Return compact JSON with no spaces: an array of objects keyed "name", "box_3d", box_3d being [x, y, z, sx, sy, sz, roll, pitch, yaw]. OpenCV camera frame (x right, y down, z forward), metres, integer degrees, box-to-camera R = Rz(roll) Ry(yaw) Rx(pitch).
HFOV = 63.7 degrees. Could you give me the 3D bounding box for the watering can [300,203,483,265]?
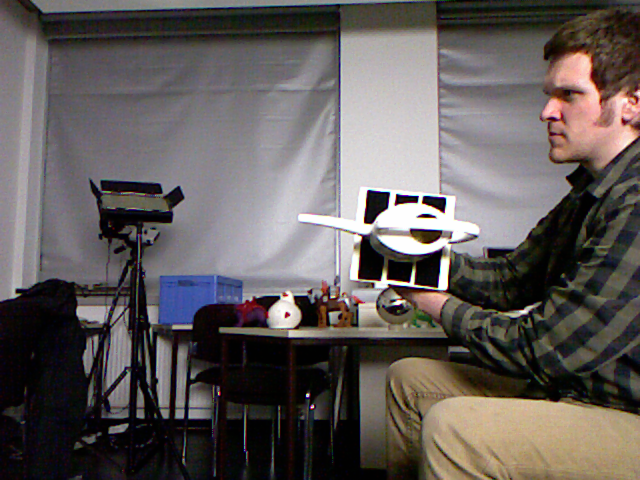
[{"name":"watering can","box_3d":[0.135,-0.016,1.016,0.349,0.105,0.223,4,-11,-1]}]
